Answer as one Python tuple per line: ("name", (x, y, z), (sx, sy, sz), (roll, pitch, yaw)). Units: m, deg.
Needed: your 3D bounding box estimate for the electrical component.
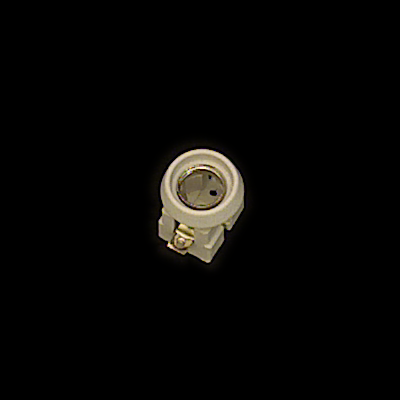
("electrical component", (0.000, 0.000, 0.636), (0.048, 0.067, 0.055), (25, -24, 14))
